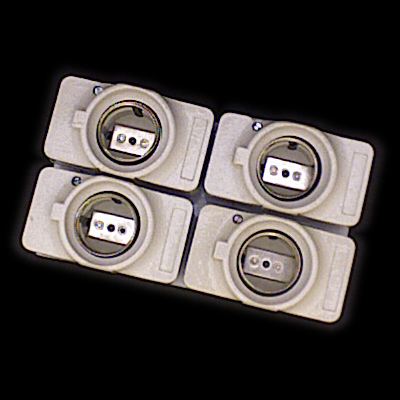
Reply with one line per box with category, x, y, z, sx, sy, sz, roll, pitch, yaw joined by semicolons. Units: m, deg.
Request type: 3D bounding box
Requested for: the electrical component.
electrical component;0.000;0.000;0.626;0.186;0.106;0.060;13;-6;2
